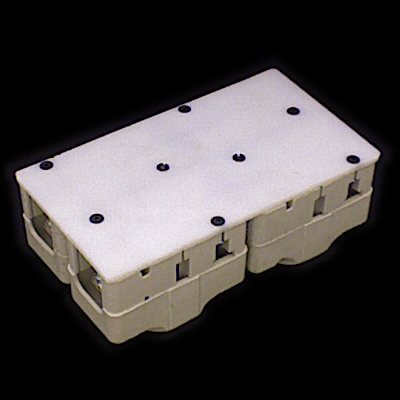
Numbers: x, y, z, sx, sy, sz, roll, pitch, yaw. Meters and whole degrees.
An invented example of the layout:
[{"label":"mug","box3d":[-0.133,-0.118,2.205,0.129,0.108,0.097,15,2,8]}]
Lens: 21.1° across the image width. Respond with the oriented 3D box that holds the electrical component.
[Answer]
[{"label":"electrical component","box3d":[0.000,0.000,0.630,0.186,0.061,0.104,-24,48,-25]}]
